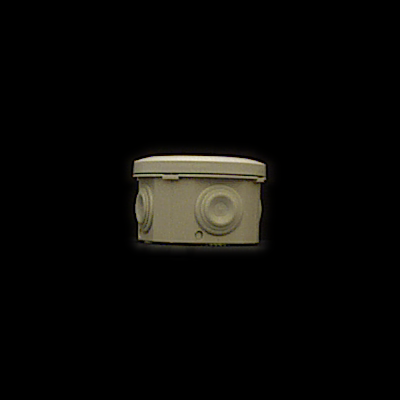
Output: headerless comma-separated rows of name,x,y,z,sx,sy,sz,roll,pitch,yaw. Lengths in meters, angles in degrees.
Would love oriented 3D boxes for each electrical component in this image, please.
electrical component,0.000,0.000,0.648,0.080,0.051,0.080,1,0,0
